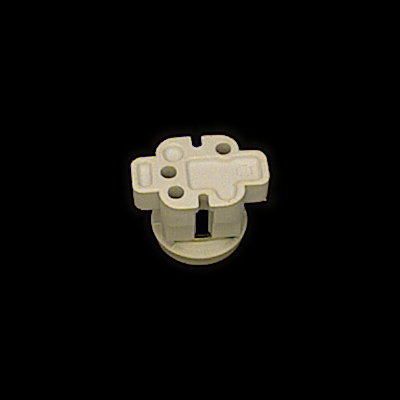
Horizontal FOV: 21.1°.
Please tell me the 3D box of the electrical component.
[{"bbox_3d":[0.000,0.000,0.638,0.079,0.057,0.057,-4,-38,-6],"label":"electrical component"}]
